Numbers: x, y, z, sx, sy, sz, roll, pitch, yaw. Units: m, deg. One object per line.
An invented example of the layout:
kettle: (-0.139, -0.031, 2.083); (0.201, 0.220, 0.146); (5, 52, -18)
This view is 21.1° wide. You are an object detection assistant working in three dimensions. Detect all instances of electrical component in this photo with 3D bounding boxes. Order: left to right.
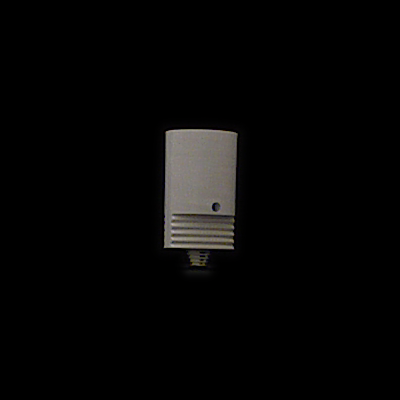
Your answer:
electrical component: (0.000, 0.000, 0.652); (0.043, 0.081, 0.043); (2, 1, 0)
